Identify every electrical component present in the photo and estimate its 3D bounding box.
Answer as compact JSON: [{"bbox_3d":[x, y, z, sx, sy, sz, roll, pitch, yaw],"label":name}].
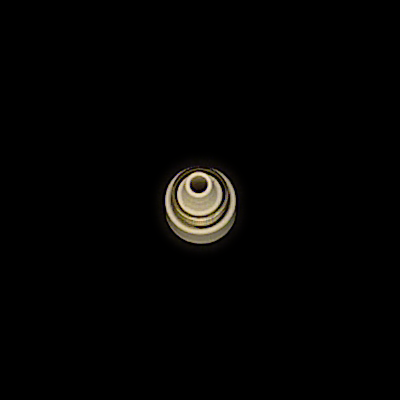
[{"bbox_3d":[0.000,0.000,0.634,0.043,0.043,0.061,0,-17,1],"label":"electrical component"}]
